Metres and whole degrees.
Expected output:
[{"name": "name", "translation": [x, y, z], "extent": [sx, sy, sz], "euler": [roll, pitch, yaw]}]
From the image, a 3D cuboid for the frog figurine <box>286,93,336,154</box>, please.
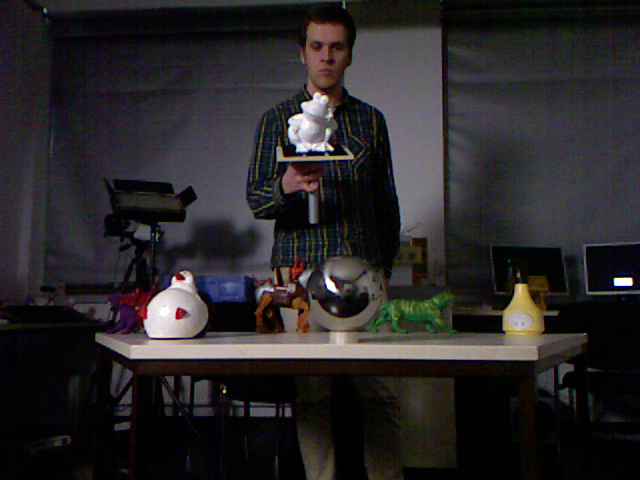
[{"name": "frog figurine", "translation": [-0.025, -0.323, 1.416], "extent": [0.137, 0.157, 0.124], "euler": [1, 18, 5]}]
